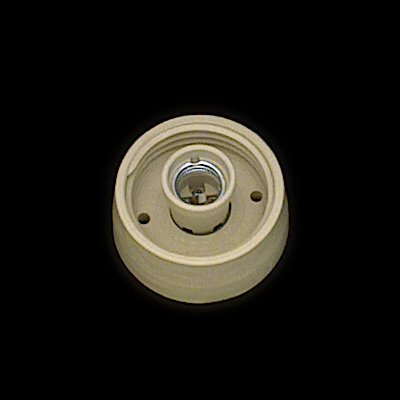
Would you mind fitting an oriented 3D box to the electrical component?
[{"bbox_3d":[0.000,0.000,0.634,0.108,0.108,0.060,0,-26,0],"label":"electrical component"}]
